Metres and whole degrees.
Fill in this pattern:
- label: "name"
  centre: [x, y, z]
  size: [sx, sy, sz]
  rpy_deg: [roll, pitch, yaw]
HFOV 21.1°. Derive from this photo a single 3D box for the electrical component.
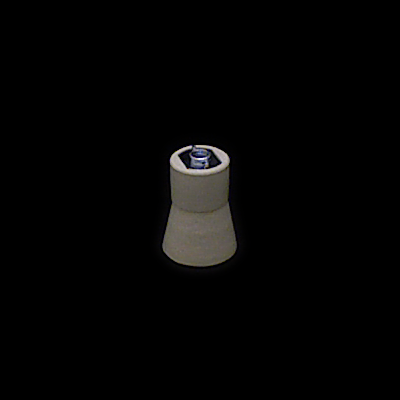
- label: "electrical component"
  centre: [0.000, 0.000, 0.633]
  size: [0.044, 0.066, 0.044]
  rpy_deg: [0, 32, 0]
